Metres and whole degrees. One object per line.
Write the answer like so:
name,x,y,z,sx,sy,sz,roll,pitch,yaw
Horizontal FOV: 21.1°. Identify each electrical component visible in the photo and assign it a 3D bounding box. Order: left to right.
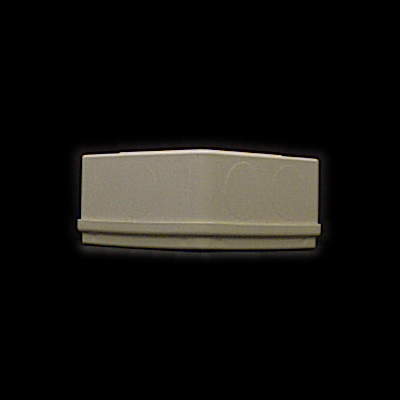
electrical component,0.000,0.000,0.647,0.108,0.056,0.109,1,0,43
